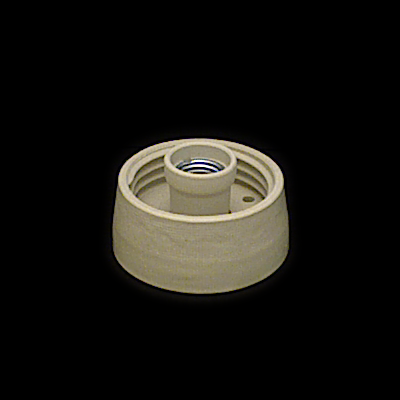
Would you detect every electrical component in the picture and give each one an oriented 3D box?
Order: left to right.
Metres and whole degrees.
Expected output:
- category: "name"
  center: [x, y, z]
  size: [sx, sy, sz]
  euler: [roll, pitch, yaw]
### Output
- category: "electrical component"
  center: [0.000, 0.000, 0.641]
  size: [0.108, 0.061, 0.106]
  euler: [1, 32, 0]
